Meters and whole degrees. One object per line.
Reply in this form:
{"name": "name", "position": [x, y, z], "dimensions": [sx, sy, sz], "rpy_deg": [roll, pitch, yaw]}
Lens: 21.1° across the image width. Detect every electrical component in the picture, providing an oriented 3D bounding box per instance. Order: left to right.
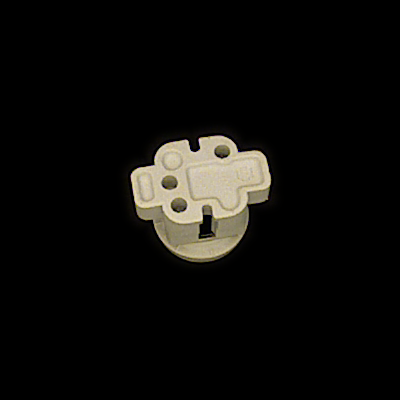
{"name": "electrical component", "position": [0.000, 0.000, 0.636], "dimensions": [0.079, 0.057, 0.057], "rpy_deg": [-9, -27, -6]}
